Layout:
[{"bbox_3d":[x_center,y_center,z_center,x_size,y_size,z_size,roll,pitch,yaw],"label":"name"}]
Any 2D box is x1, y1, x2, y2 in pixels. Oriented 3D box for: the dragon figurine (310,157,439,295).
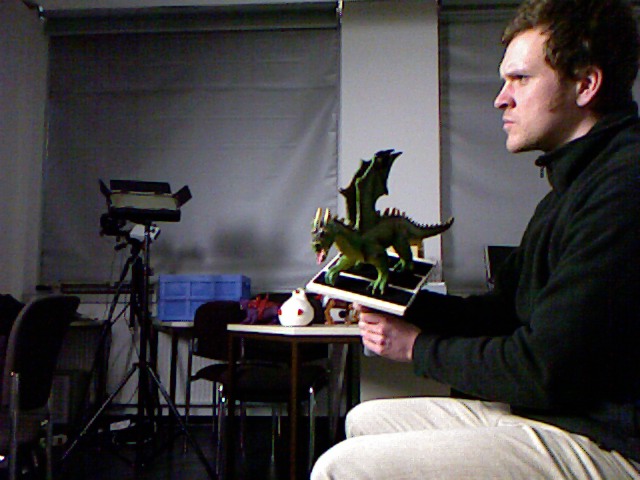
[{"bbox_3d":[0.119,-0.043,0.995,0.123,0.238,0.417,21,37,36],"label":"dragon figurine"}]
